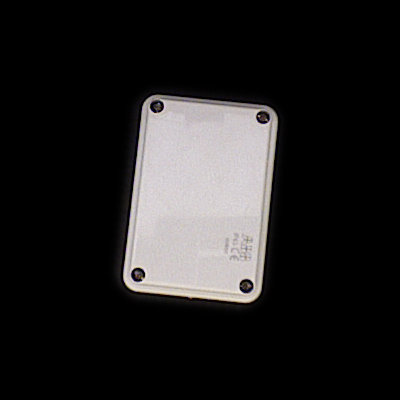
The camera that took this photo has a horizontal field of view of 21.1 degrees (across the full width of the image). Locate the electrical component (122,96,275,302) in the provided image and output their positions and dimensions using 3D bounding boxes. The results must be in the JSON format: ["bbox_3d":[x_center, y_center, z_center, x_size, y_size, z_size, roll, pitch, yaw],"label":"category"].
[{"bbox_3d":[0.000,0.000,0.628,0.078,0.113,0.057,6,-7,1],"label":"electrical component"}]
